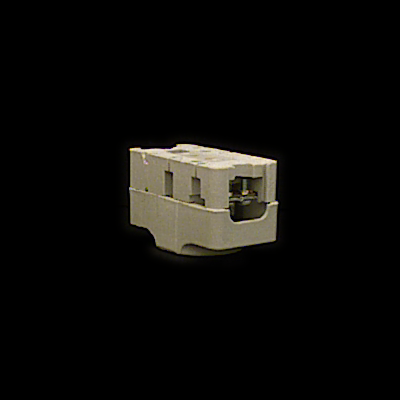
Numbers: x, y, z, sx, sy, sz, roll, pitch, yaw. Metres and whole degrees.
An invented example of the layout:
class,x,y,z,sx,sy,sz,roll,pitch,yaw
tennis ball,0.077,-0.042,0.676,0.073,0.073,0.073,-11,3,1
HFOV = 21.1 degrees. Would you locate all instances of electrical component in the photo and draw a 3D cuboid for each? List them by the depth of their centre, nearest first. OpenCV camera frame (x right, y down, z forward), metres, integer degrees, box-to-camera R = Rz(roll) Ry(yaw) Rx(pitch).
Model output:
class,x,y,z,sx,sy,sz,roll,pitch,yaw
electrical component,0.000,0.000,0.650,0.050,0.056,0.088,-9,15,-37
